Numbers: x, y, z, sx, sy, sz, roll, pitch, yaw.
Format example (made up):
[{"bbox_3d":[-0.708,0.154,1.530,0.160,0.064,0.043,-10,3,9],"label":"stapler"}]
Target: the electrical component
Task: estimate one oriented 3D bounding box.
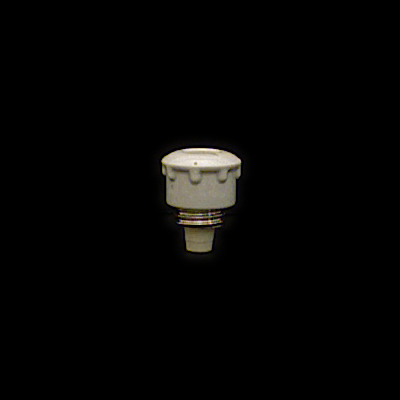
[{"bbox_3d":[0.000,0.000,0.653,0.048,0.062,0.048,1,11,0],"label":"electrical component"}]
